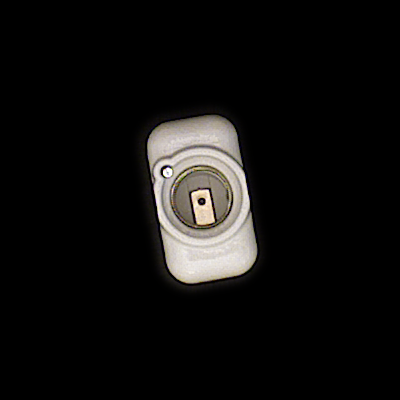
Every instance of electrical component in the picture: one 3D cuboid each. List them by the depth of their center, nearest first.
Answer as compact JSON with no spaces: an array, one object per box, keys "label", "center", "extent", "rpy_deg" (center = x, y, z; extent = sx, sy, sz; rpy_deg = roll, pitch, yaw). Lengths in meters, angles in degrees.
[{"label":"electrical component","center":[0.000,0.000,0.635],"extent":[0.054,0.095,0.059],"rpy_deg":[-10,-6,0]}]
